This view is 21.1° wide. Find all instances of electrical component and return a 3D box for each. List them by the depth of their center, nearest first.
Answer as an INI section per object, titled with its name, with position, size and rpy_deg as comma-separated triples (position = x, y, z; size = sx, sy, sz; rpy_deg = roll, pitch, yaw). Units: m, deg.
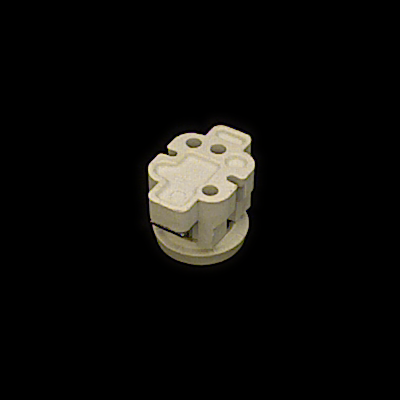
[electrical component]
position = 0.000, 0.000, 0.637
size = 0.057, 0.057, 0.078
rpy_deg = 23, 48, 21
